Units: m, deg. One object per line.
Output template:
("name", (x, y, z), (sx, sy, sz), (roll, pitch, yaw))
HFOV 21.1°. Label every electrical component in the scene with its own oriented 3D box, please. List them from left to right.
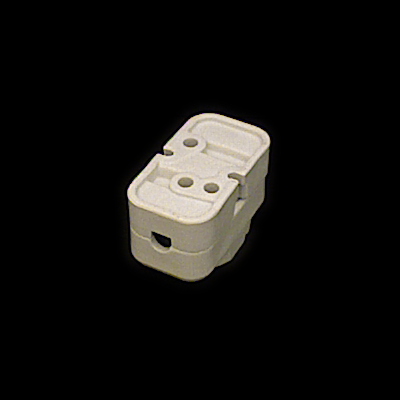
("electrical component", (0.000, 0.000, 0.638), (0.053, 0.060, 0.095), (20, 45, 20))
